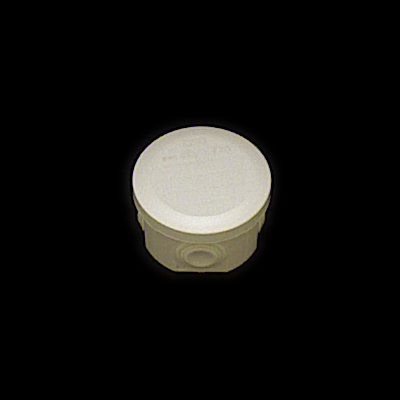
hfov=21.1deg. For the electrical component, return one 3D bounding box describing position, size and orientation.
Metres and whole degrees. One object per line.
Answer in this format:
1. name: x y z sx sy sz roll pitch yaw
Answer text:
1. electrical component: 0.000 0.000 0.632 0.080 0.080 0.051 0 -38 -1
